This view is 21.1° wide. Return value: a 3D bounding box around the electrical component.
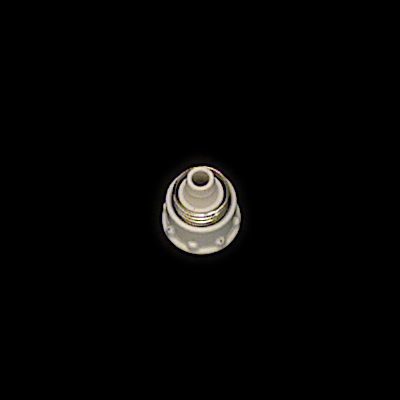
[{"bbox_3d":[0.000,0.000,0.633,0.048,0.048,0.062,0,-25,1],"label":"electrical component"}]
